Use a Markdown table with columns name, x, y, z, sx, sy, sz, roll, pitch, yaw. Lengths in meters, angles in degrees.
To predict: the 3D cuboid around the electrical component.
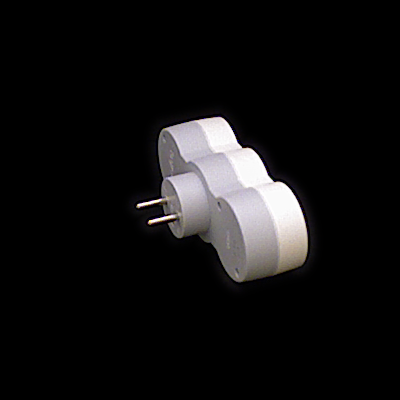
| name | x | y | z | sx | sy | sz | roll | pitch | yaw |
| --- | --- | --- | --- | --- | --- | --- | --- | --- | --- |
| electrical component | 0.000 | 0.000 | 0.634 | 0.074 | 0.053 | 0.137 | -14 | 35 | -19 |
